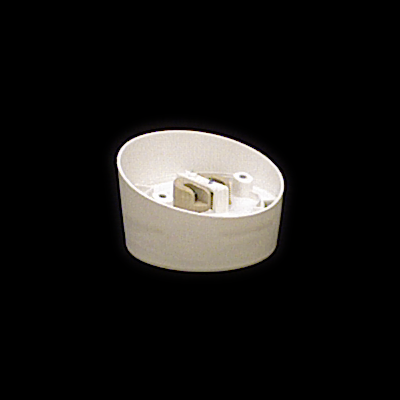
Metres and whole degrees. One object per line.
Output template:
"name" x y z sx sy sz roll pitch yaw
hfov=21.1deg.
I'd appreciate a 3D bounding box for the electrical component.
"electrical component" 0.000 0.000 0.638 0.099 0.065 0.097 0 20 0
